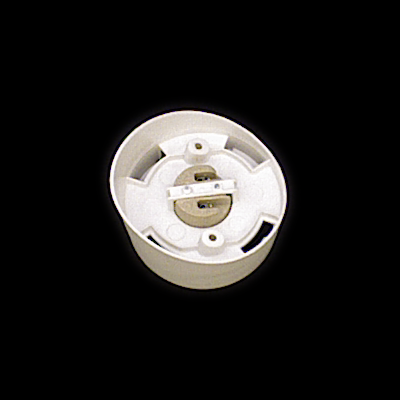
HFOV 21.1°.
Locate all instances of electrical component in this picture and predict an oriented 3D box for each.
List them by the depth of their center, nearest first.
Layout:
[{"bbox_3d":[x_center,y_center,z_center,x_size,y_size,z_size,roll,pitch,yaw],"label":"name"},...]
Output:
[{"bbox_3d":[0.000,0.000,0.624,0.099,0.099,0.064,0,-27,0],"label":"electrical component"}]
